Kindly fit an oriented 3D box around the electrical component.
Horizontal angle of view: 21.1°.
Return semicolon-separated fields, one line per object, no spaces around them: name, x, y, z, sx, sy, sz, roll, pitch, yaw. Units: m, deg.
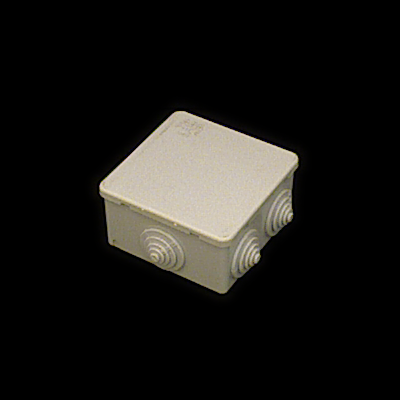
electrical component;0.000;0.000;0.643;0.099;0.049;0.100;23;47;22
